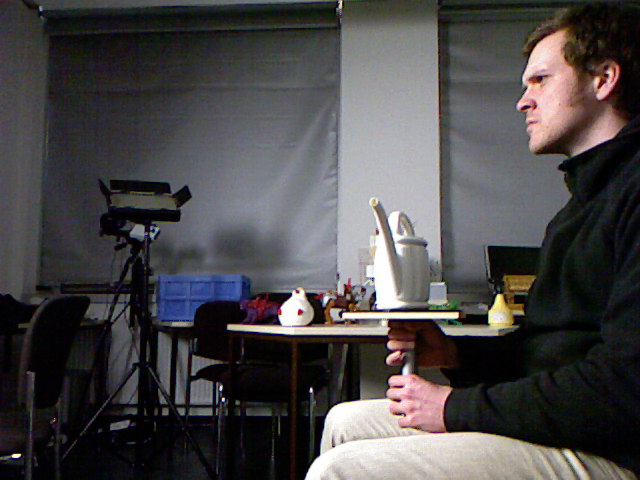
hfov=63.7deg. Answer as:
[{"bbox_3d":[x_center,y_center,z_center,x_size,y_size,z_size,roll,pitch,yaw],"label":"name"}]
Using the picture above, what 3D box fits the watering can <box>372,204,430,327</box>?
[{"bbox_3d":[0.146,0.051,0.966,0.104,0.226,0.346,-1,-7,21],"label":"watering can"}]
